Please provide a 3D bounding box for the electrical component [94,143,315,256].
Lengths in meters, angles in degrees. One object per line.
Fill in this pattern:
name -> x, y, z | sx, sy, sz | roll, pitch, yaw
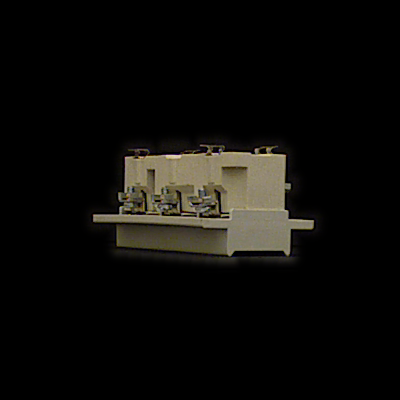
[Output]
electrical component -> 0.000, 0.000, 0.654 | 0.079, 0.063, 0.120 | 0, 1, -35
